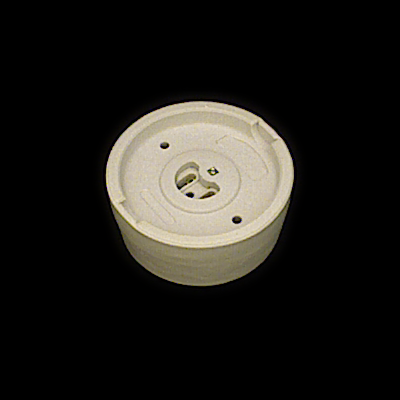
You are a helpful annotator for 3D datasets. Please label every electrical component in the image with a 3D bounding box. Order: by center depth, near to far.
[{"bbox_3d":[0.000,0.000,0.638,0.108,0.107,0.061,0,-37,0],"label":"electrical component"}]
